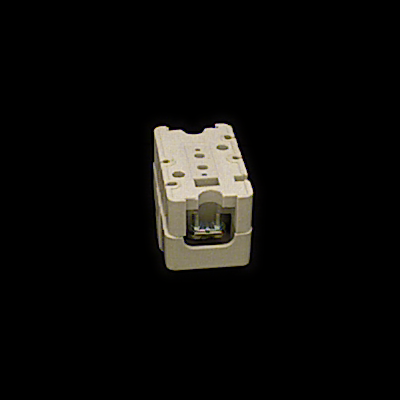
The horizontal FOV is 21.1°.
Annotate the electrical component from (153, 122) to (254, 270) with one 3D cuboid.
[{"bbox_3d":[0.000,0.000,0.643,0.050,0.056,0.088,-3,33,-7],"label":"electrical component"}]
